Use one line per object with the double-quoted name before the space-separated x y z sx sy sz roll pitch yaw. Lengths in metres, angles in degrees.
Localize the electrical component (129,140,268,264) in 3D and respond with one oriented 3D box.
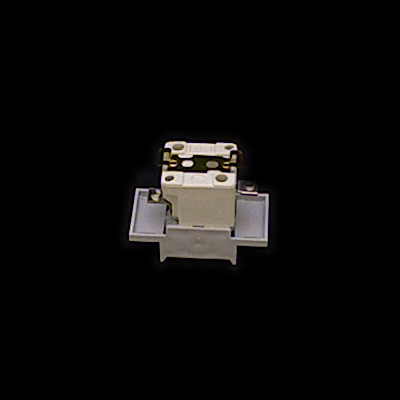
"electrical component" 0.000 0.000 0.629 0.081 0.064 0.042 2 42 1
